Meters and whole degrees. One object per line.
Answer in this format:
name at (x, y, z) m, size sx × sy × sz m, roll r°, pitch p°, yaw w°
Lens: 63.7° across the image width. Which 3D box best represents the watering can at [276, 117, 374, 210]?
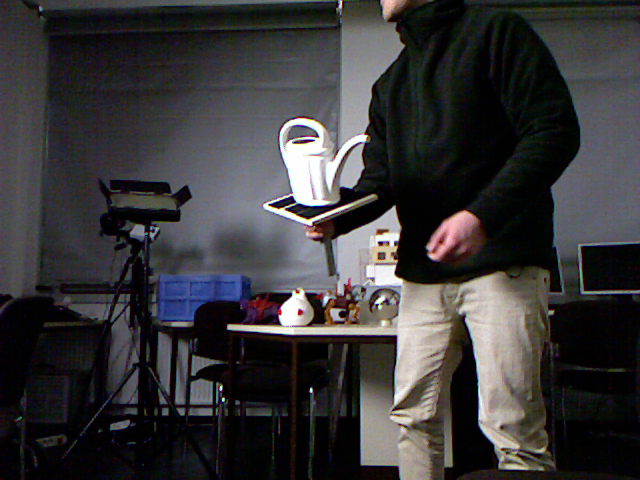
watering can at (0.005, -0.170, 1.195) m, size 0.105 × 0.220 × 0.351 m, roll -25°, pitch 29°, yaw -30°
